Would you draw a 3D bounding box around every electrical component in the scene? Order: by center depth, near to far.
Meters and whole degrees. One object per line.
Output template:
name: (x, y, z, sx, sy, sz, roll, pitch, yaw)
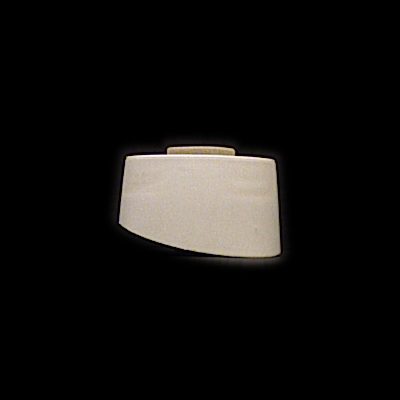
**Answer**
electrical component: (0.000, 0.000, 0.650, 0.099, 0.064, 0.099, 2, 0, 0)
